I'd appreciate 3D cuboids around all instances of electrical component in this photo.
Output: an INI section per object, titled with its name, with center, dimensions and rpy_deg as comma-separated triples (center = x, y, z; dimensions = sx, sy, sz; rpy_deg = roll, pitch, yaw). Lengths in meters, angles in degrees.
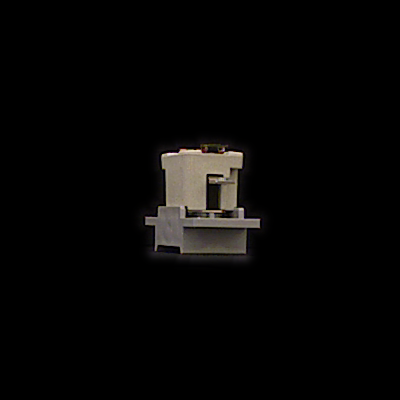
[electrical component]
center = 0.000, 0.000, 0.650
dimensions = 0.042, 0.064, 0.080
rpy_deg = 1, 1, -24
